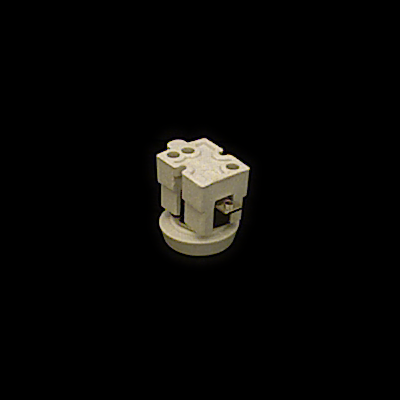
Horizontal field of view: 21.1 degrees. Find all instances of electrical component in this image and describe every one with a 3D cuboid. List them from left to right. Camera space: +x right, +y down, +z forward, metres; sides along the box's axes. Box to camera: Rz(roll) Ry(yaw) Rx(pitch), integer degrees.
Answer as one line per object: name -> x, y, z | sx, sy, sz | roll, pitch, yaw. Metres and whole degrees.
electrical component -> 0.000, 0.000, 0.643 | 0.049, 0.056, 0.065 | -21, 39, -33
